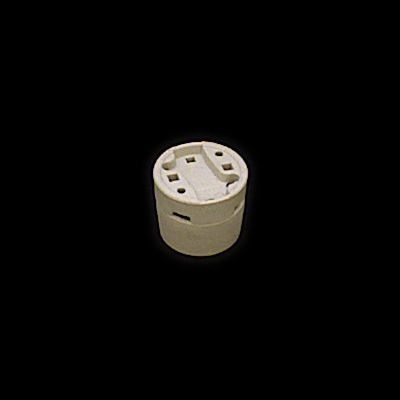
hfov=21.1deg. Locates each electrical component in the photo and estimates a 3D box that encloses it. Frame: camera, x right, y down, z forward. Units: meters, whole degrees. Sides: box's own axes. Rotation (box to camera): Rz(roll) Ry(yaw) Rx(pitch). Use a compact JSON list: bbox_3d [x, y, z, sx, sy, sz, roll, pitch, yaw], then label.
[{"bbox_3d":[0.000,0.000,0.635,0.055,0.047,0.055,0,42,0],"label":"electrical component"}]
